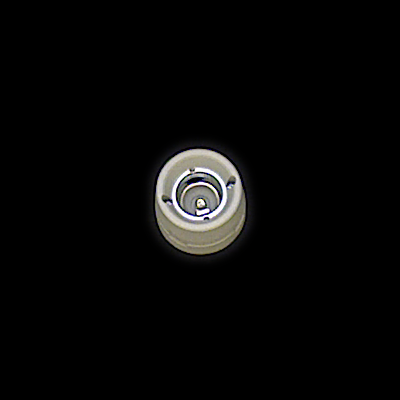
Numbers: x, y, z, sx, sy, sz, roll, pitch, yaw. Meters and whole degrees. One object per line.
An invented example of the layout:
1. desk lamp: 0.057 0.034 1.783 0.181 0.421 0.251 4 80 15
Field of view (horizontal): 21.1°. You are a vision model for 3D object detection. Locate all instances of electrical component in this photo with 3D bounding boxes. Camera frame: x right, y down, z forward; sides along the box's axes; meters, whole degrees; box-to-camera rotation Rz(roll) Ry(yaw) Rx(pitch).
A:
1. electrical component: 0.000 0.000 0.633 0.055 0.056 0.047 0 -17 1
